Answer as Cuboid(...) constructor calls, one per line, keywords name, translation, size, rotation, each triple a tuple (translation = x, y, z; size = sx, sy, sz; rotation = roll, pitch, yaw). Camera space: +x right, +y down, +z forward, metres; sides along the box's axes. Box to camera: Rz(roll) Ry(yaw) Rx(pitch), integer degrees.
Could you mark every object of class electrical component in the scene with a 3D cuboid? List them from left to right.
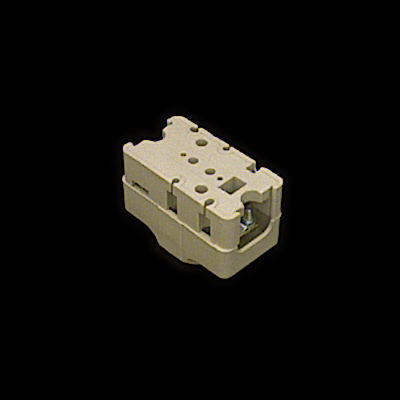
Cuboid(name="electrical component", translation=(0.000, 0.000, 0.640), size=(0.088, 0.056, 0.050), rotation=(35, 52, 31))
